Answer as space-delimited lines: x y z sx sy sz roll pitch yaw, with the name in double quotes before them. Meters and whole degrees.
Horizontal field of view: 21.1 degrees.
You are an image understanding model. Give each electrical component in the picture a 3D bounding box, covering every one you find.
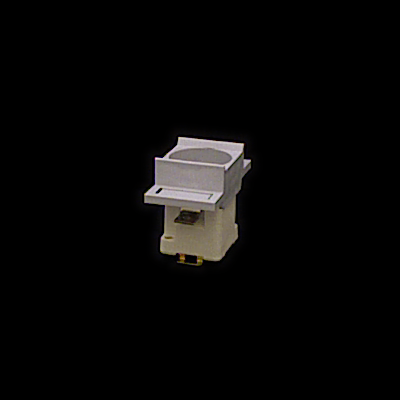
"electrical component" 0.000 0.000 0.640 0.042 0.064 0.080 6 22 16
